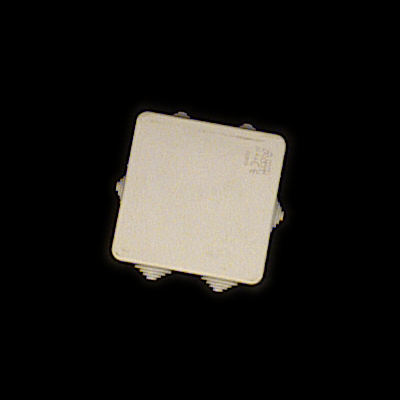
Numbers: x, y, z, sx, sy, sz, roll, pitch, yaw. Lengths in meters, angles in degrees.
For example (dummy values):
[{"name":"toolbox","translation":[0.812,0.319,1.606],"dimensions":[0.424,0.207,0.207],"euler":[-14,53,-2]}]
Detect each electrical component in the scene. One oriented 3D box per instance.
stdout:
[{"name":"electrical component","translation":[0.000,0.000,0.642],"dimensions":[0.100,0.100,0.048],"euler":[11,-6,1]}]
